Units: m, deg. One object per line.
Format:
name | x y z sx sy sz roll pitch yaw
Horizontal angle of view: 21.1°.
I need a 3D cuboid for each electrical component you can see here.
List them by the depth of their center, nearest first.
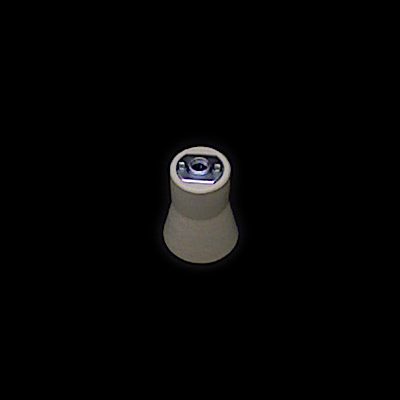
electrical component | 0.000 0.000 0.628 0.044 0.044 0.065 0 -39 0
